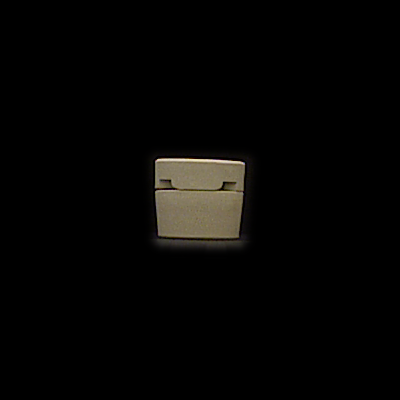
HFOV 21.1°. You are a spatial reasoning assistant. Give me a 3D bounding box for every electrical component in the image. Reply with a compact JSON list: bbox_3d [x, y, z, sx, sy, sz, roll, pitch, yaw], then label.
[{"bbox_3d":[0.000,0.000,0.651,0.055,0.047,0.055,1,1,0],"label":"electrical component"}]
